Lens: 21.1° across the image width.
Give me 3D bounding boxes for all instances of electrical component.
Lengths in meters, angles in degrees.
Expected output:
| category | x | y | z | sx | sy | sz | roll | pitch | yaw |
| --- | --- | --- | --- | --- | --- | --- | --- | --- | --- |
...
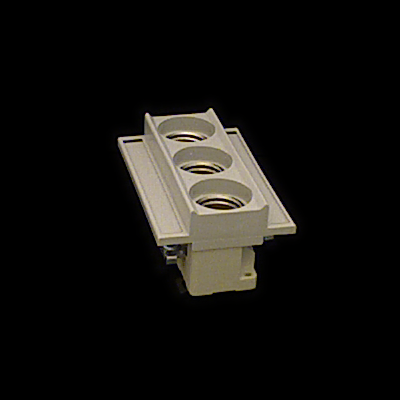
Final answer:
| category | x | y | z | sx | sy | sz | roll | pitch | yaw |
| --- | --- | --- | --- | --- | --- | --- | --- | --- | --- |
| electrical component | 0.000 | 0.000 | 0.647 | 0.079 | 0.064 | 0.119 | -6 | 32 | -13 |
